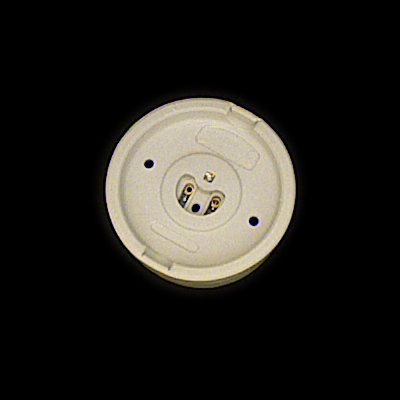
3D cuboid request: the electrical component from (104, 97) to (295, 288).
[{"bbox_3d":[0.000,0.000,0.635,0.108,0.108,0.060,0,-16,0],"label":"electrical component"}]
